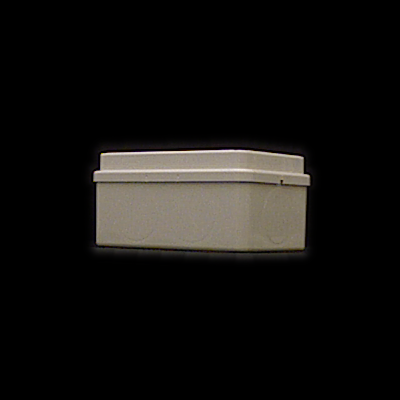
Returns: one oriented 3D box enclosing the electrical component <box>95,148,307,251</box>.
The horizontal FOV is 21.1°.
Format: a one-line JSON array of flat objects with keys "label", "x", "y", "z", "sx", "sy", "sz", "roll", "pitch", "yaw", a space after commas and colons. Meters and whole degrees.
[{"label": "electrical component", "x": 0.000, "y": 0.000, "z": 0.651, "sx": 0.113, "sy": 0.057, "sz": 0.078, "roll": 1, "pitch": 0, "yaw": 35}]
